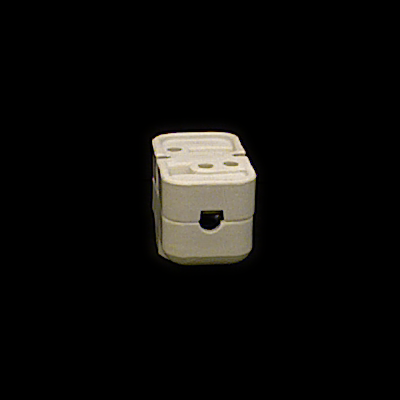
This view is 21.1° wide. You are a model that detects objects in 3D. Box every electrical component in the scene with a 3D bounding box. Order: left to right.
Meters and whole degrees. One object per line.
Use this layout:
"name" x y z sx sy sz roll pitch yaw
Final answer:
"electrical component" 0.000 0.000 0.647 0.054 0.060 0.093 -2 21 -7
